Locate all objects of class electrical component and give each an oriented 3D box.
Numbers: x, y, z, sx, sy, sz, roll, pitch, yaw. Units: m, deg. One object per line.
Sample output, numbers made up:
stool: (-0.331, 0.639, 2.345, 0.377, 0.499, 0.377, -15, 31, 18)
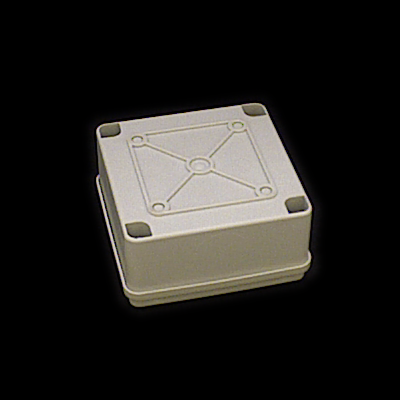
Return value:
electrical component: (0.000, 0.000, 0.629, 0.109, 0.056, 0.107, -9, 43, -10)
